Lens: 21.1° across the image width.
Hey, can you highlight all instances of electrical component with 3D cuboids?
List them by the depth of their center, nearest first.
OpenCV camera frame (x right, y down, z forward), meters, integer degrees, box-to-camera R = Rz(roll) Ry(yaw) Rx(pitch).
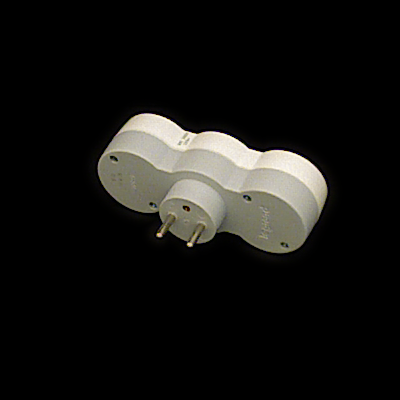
[{"bbox_3d":[0.000,0.000,0.639,0.137,0.052,0.074,17,46,16],"label":"electrical component"}]
